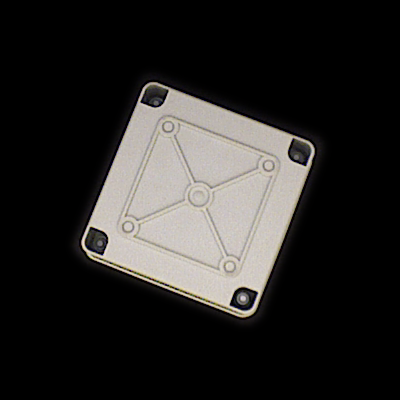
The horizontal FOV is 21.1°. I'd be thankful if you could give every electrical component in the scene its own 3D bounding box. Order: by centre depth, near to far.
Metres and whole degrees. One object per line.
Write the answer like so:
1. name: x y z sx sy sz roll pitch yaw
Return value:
1. electrical component: 0.000 0.000 0.628 0.109 0.109 0.056 21 -6 2
